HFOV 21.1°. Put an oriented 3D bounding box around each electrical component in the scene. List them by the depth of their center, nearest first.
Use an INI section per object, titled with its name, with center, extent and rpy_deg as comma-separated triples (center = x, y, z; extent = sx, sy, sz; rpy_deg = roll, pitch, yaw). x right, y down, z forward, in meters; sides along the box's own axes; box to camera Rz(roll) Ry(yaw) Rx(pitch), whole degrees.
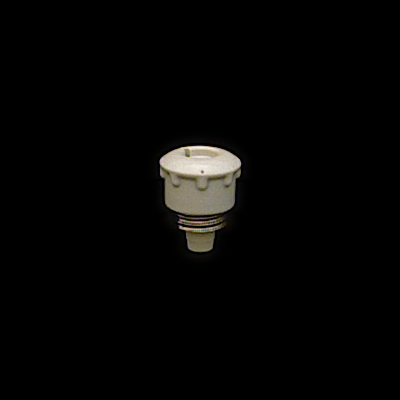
[electrical component]
center = 0.000, 0.000, 0.644
extent = 0.048, 0.062, 0.047
rpy_deg = 1, 21, 0
